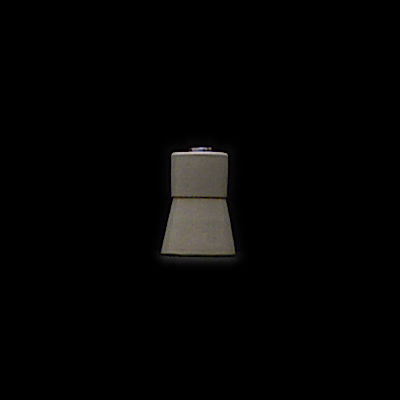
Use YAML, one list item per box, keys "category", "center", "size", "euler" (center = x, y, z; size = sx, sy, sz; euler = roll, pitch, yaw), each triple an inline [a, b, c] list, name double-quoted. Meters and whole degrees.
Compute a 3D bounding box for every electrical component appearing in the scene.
- category: "electrical component"
  center: [0.000, 0.000, 0.649]
  size: [0.044, 0.065, 0.044]
  euler: [1, 2, 0]
